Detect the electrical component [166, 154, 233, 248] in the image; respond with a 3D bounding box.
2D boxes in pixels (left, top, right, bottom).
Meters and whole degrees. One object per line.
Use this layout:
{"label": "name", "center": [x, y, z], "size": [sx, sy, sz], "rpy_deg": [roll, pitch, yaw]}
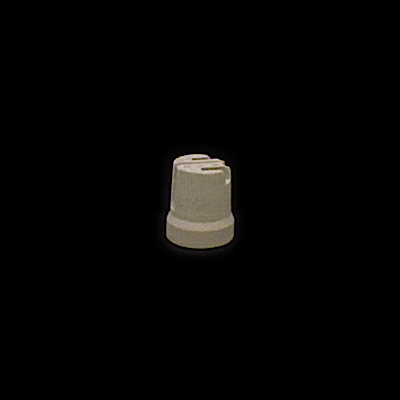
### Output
{"label": "electrical component", "center": [0.000, 0.000, 0.641], "size": [0.040, 0.046, 0.040], "rpy_deg": [1, 22, 0]}
